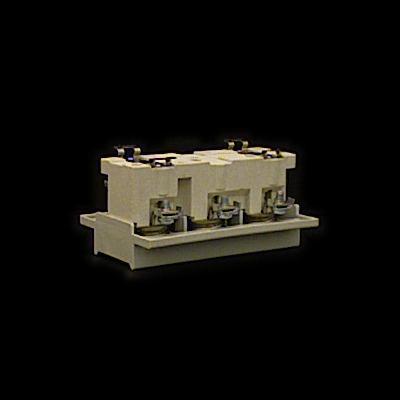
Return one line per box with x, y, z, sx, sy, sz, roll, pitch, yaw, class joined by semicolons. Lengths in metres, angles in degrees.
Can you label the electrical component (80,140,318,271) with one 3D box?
0.000;0.000;0.649;0.122;0.063;0.078;-7;14;-35;electrical component
